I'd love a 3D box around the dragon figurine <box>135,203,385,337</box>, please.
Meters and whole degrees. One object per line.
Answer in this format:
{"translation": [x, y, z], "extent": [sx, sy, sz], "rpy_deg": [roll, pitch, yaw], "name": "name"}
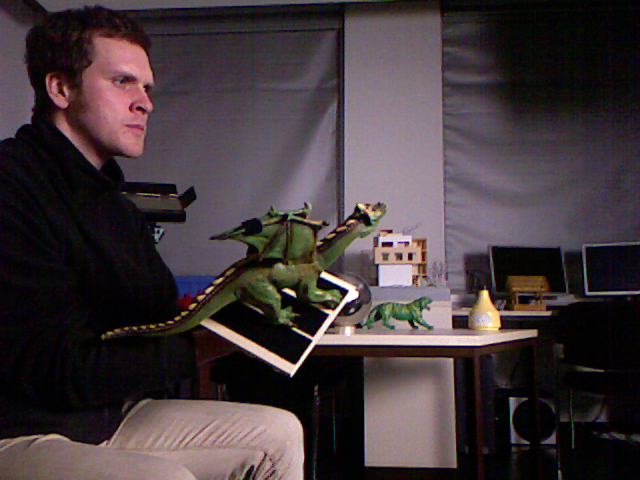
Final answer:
{"translation": [-0.086, 0.032, 0.763], "extent": [0.413, 0.125, 0.237], "rpy_deg": [-18, -35, -16], "name": "dragon figurine"}
